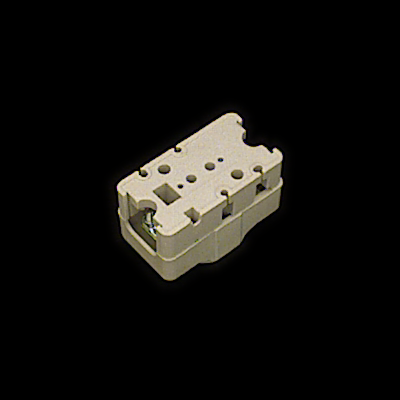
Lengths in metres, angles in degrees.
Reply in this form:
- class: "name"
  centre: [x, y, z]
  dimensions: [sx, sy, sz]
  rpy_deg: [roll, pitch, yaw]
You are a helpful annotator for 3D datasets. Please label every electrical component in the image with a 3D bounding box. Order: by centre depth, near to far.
- class: "electrical component"
  centre: [0.000, 0.000, 0.637]
  dimensions: [0.090, 0.050, 0.056]
  rpy_deg: [-34, -29, -23]
